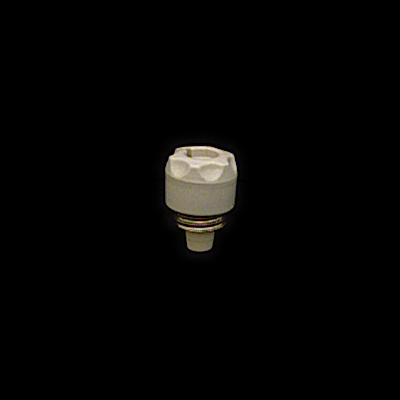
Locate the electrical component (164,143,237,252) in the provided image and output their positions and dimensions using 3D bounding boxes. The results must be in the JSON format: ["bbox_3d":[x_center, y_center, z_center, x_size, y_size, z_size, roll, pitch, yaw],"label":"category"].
[{"bbox_3d":[0.000,0.000,0.646,0.043,0.063,0.043,2,23,0],"label":"electrical component"}]
